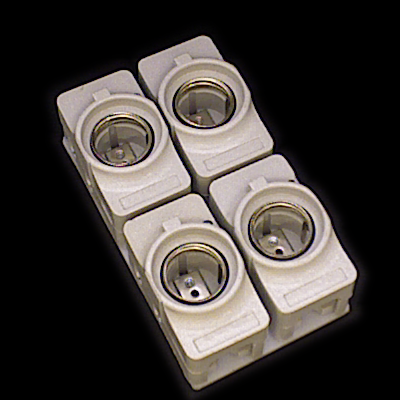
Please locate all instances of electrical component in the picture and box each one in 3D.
[{"bbox_3d":[0.000,0.000,0.625,0.106,0.186,0.060,-24,-25,-12],"label":"electrical component"}]
